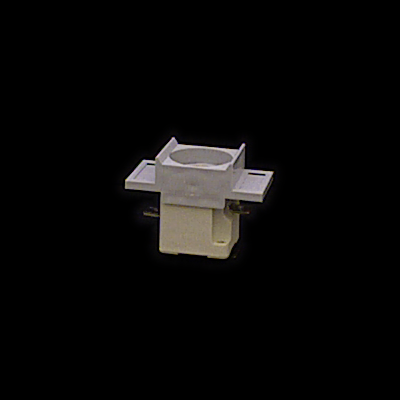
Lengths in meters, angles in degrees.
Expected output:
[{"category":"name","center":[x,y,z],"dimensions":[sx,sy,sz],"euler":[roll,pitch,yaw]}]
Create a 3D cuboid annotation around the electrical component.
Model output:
[{"category":"electrical component","center":[0.000,0.000,0.638],"dimensions":[0.080,0.064,0.041],"euler":[6,23,11]}]
